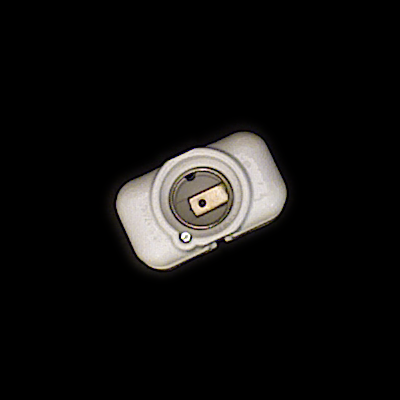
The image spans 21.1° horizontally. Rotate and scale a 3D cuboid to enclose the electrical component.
[{"bbox_3d":[0.000,0.000,0.635,0.095,0.054,0.059,-25,-6,-2],"label":"electrical component"}]
